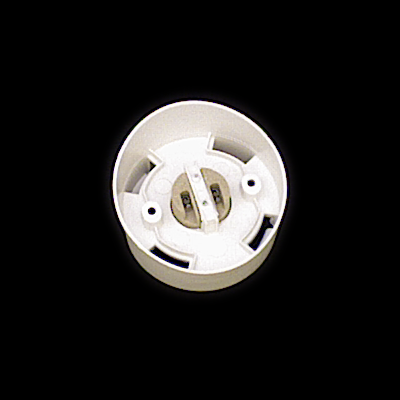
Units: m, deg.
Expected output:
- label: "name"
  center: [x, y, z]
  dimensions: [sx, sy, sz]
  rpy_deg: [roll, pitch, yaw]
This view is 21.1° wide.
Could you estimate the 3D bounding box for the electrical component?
- label: "electrical component"
  center: [0.000, 0.000, 0.624]
  dimensions: [0.099, 0.099, 0.064]
  rpy_deg: [0, -28, 0]
